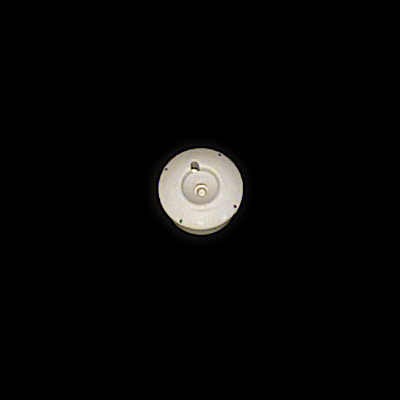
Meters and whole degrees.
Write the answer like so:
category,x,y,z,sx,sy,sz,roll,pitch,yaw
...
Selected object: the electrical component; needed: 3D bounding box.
category,x,y,z,sx,sy,sz,roll,pitch,yaw
electrical component,0.000,0.000,0.633,0.048,0.048,0.061,0,-16,1
